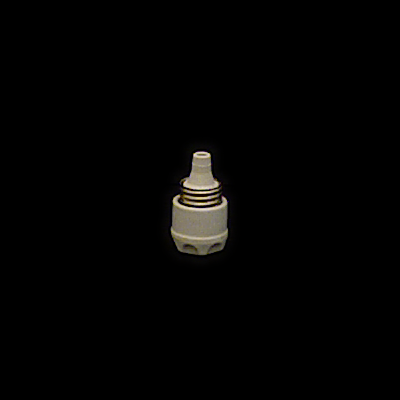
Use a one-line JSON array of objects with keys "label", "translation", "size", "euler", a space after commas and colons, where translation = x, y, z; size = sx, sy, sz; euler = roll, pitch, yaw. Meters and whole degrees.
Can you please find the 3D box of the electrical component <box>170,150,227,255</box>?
[{"label": "electrical component", "translation": [0.000, 0.000, 0.652], "size": [0.035, 0.062, 0.034], "euler": [2, 22, -1]}]
